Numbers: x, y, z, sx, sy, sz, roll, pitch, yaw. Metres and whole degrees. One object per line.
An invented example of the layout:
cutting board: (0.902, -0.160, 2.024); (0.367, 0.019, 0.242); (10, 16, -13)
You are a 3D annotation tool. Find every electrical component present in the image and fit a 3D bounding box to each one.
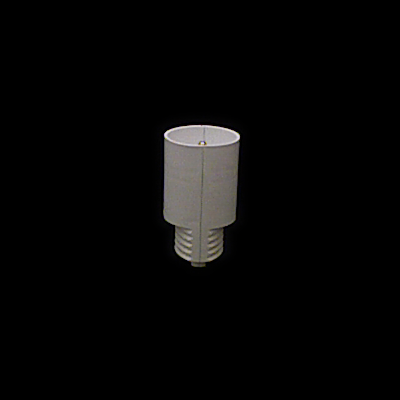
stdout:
electrical component: (0.000, 0.000, 0.633); (0.043, 0.082, 0.042); (0, 22, 0)
